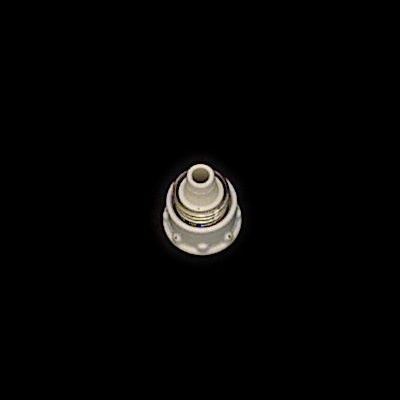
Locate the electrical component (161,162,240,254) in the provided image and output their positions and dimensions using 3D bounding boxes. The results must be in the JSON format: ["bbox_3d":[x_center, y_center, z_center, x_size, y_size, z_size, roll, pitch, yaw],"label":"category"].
[{"bbox_3d":[0.000,0.000,0.634,0.048,0.048,0.062,0,-28,0],"label":"electrical component"}]
